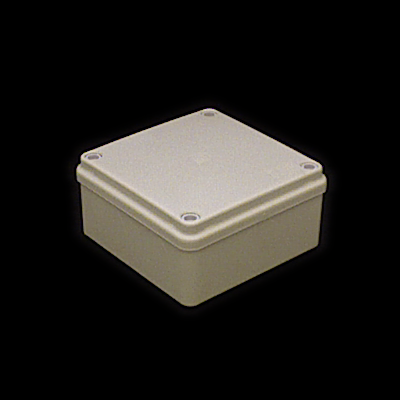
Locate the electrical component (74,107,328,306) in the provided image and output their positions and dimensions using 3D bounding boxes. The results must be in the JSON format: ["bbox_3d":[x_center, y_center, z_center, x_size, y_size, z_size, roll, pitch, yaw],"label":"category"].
[{"bbox_3d":[0.000,0.000,0.636,0.109,0.057,0.107,-23,38,-34],"label":"electrical component"}]
